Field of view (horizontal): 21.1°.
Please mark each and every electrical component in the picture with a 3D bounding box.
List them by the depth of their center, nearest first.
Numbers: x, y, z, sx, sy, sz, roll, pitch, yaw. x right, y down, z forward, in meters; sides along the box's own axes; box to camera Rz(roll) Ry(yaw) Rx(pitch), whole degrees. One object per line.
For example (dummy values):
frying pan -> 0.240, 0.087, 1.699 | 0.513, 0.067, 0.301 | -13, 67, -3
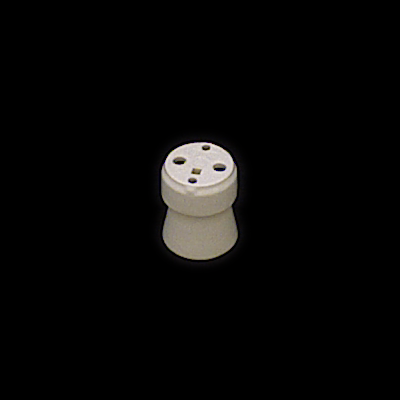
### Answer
electrical component -> 0.000, 0.000, 0.632 | 0.045, 0.055, 0.044 | 0, 42, 0
